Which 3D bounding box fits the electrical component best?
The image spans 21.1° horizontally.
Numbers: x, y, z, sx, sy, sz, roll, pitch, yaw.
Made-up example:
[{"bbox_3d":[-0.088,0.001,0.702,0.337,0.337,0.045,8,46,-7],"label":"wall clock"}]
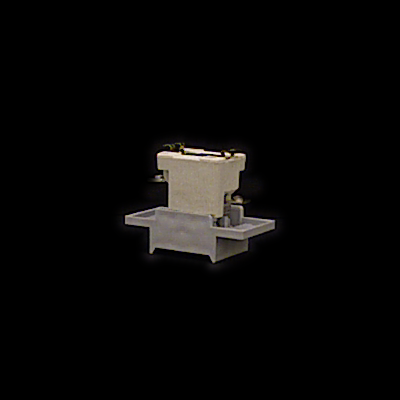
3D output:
[{"bbox_3d":[0.000,0.000,0.644,0.080,0.064,0.042,7,12,29],"label":"electrical component"}]
